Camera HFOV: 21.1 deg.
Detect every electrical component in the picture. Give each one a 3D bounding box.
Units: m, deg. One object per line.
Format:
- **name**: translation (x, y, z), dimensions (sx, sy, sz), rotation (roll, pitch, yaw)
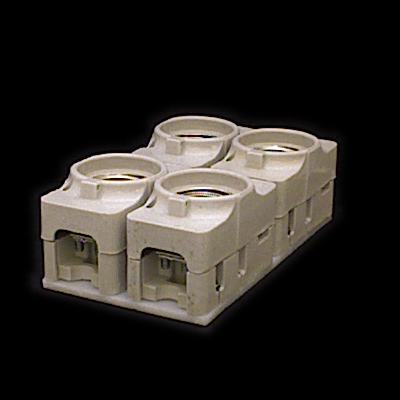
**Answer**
- **electrical component**: translation (0.000, 0.000, 0.638), dimensions (0.105, 0.061, 0.185), rotation (11, 23, 25)
